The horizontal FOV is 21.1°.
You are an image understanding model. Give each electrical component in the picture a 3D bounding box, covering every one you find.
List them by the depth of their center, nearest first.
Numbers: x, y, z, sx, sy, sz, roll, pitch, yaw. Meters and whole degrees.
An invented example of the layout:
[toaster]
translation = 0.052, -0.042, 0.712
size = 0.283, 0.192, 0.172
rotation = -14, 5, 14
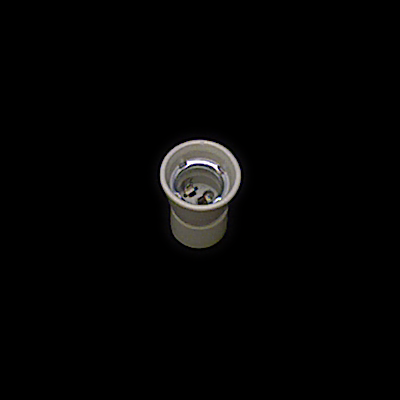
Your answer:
[electrical component]
translation = 0.000, 0.000, 0.626
size = 0.044, 0.044, 0.065
rotation = 0, -28, -1
